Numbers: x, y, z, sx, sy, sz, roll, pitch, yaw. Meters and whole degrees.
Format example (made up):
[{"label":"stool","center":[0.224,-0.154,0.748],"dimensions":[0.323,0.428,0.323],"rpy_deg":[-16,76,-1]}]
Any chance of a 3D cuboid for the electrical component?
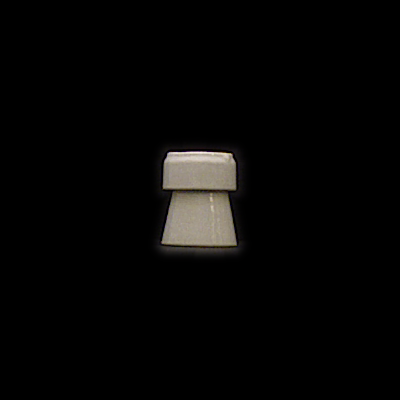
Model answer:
[{"label":"electrical component","center":[0.000,0.000,0.649],"dimensions":[0.045,0.055,0.045],"rpy_deg":[1,1,0]}]
